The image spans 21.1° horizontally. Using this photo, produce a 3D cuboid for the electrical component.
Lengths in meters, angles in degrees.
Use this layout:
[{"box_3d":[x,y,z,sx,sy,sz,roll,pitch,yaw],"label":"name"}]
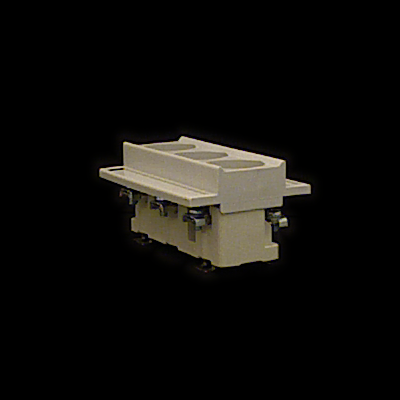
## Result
[{"box_3d":[0.000,0.000,0.655,0.079,0.063,0.120,-7,13,-28],"label":"electrical component"}]
